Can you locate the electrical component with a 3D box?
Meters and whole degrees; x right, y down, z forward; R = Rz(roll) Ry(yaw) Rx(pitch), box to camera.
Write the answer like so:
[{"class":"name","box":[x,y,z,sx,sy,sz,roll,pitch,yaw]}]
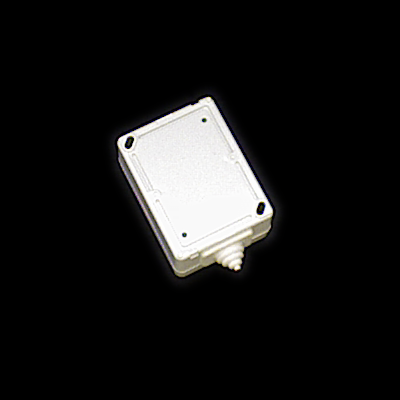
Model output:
[{"class":"electrical component","box":[0.000,0.000,0.624,0.062,0.097,0.060,-26,-15,-8]}]
